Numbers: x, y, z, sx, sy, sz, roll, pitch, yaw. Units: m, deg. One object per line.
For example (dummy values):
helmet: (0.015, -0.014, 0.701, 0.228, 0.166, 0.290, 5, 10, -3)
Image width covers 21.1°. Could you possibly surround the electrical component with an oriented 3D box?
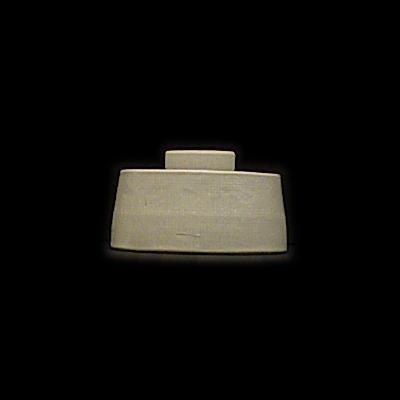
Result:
electrical component: (0.000, 0.000, 0.658, 0.108, 0.060, 0.108, 1, 0, 1)
